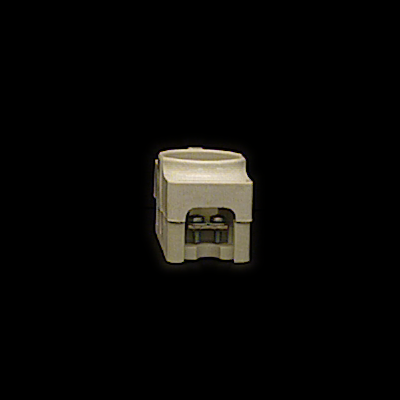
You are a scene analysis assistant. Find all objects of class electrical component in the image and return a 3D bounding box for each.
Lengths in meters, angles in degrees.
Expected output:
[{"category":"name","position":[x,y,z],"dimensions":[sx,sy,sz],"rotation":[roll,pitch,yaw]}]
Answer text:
[{"category":"electrical component","position":[0.000,0.000,0.652],"dimensions":[0.050,0.056,0.088],"rotation":[0,11,-8]}]
